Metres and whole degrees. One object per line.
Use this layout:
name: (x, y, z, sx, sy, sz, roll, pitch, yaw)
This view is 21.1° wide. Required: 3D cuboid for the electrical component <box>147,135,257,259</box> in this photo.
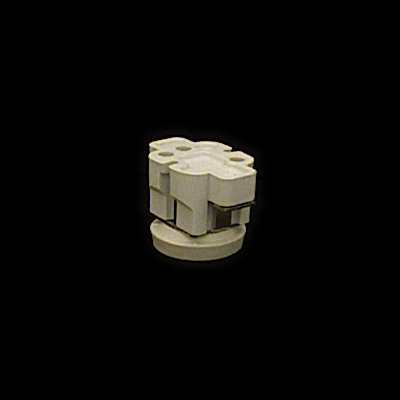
electrical component: (0.000, 0.000, 0.646, 0.058, 0.057, 0.077, -15, 28, -36)
